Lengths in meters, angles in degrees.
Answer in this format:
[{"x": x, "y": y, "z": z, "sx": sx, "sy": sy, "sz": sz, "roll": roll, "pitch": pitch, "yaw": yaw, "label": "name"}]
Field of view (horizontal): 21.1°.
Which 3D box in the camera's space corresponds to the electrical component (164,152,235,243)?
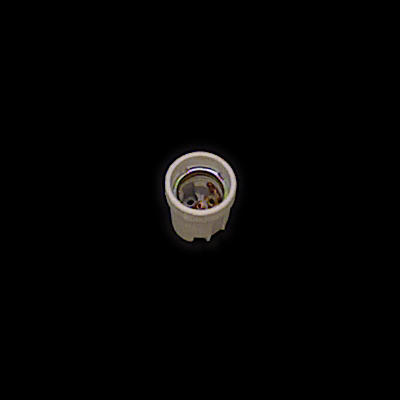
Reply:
[{"x": 0.000, "y": 0.000, "z": 0.627, "sx": 0.040, "sy": 0.040, "sz": 0.046, "roll": 0, "pitch": -27, "yaw": 0, "label": "electrical component"}]
